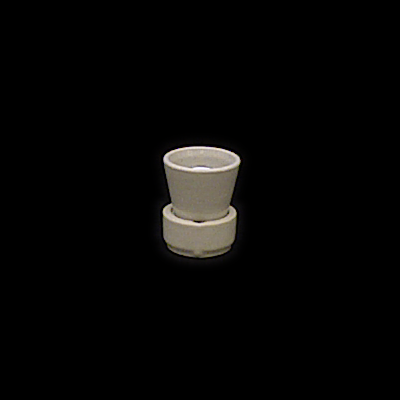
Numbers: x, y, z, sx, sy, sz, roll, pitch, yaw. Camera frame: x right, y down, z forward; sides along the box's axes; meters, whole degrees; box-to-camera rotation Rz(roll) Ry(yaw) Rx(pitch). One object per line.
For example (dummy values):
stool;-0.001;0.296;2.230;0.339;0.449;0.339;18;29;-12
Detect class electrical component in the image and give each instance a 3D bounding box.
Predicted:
electrical component;0.000;0.000;0.641;0.045;0.056;0.044;2;22;0
